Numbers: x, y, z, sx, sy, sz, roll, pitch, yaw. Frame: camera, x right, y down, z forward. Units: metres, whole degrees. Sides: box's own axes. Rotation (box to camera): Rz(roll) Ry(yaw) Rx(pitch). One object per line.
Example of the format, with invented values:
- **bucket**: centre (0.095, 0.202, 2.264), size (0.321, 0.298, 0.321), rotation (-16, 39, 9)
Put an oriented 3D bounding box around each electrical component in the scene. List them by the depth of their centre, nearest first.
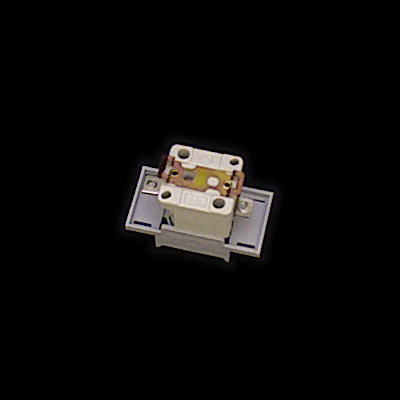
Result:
- **electrical component**: centre (0.000, 0.000, 0.626), size (0.081, 0.042, 0.063), rotation (11, -27, 6)
